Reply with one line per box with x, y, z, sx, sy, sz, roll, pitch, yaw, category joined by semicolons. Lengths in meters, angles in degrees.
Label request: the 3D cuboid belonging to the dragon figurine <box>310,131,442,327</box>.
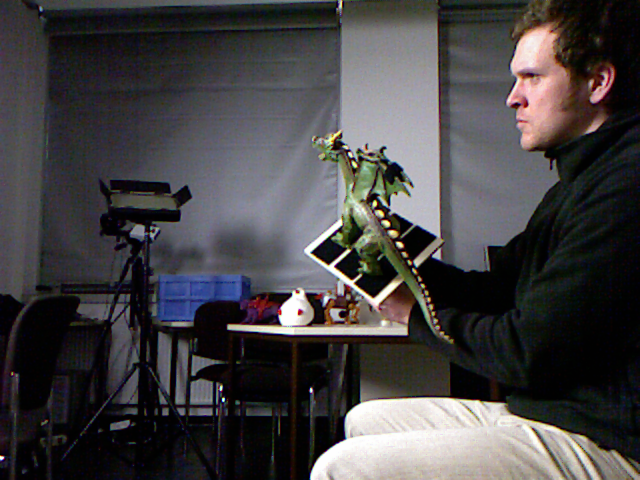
0.110;-0.051;0.943;0.124;0.418;0.238;-29;-32;-18;dragon figurine
